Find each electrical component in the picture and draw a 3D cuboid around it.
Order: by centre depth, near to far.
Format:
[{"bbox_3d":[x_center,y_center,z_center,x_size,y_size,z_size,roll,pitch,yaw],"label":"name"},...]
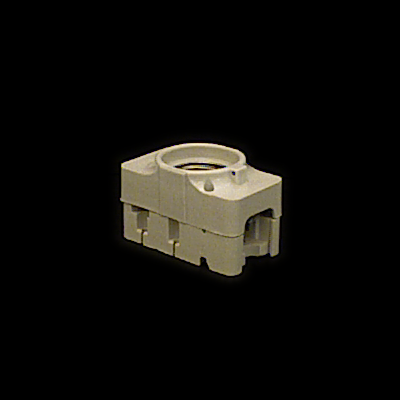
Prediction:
[{"bbox_3d":[0.000,0.000,0.646,0.088,0.056,0.050,17,27,36],"label":"electrical component"}]
